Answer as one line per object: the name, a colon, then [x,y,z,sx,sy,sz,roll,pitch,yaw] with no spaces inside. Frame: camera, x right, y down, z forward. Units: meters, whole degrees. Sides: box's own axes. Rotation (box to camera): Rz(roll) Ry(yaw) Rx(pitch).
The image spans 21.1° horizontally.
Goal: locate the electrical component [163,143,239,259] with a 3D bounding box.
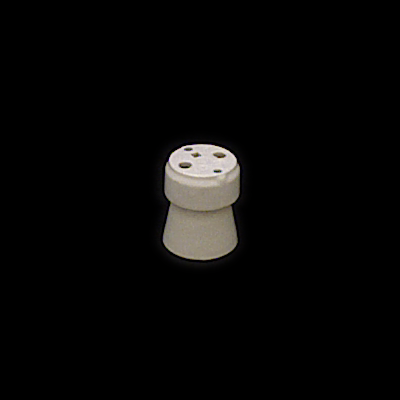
electrical component: [0.000,0.000,0.636,0.045,0.056,0.044,1,32,-1]
